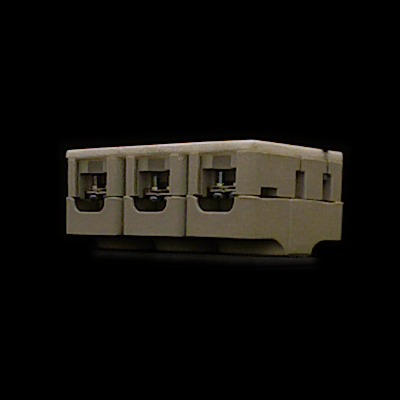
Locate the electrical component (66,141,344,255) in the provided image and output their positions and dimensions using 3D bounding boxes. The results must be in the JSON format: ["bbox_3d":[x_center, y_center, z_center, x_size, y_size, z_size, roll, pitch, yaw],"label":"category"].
[{"bbox_3d":[0.000,0.000,0.657,0.150,0.062,0.089,1,0,41],"label":"electrical component"}]
